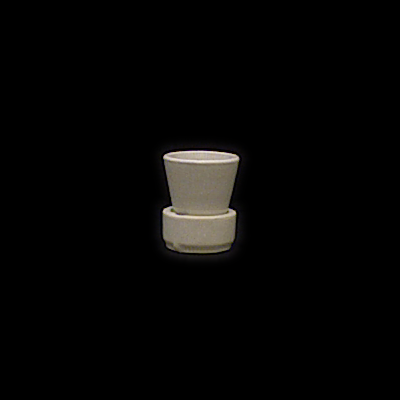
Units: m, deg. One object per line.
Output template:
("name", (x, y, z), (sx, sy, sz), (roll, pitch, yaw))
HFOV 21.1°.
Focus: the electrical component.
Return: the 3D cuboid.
("electrical component", (0.000, 0.000, 0.645), (0.045, 0.055, 0.044), (1, 12, 0))
